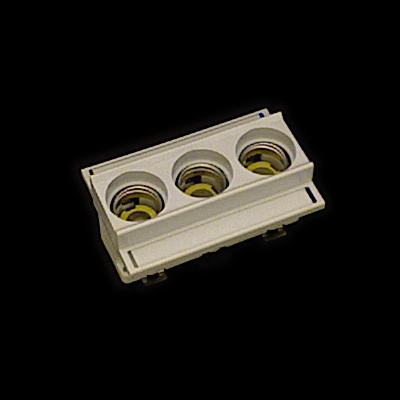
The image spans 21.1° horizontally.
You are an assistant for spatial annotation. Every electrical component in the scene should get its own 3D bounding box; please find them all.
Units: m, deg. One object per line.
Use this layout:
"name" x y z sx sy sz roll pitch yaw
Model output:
"electrical component" 0.000 0.000 0.639 0.121 0.078 0.063 -19 -33 -14
